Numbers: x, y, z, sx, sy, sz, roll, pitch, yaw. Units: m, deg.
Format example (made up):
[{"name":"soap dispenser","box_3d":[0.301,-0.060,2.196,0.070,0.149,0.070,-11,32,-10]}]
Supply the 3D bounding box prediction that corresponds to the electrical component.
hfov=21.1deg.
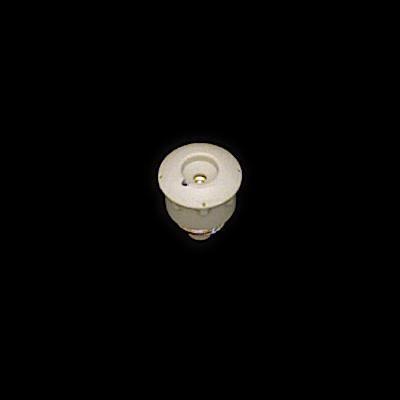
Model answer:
[{"name":"electrical component","box_3d":[0.000,0.000,0.634,0.048,0.048,0.062,0,-37,0]}]
